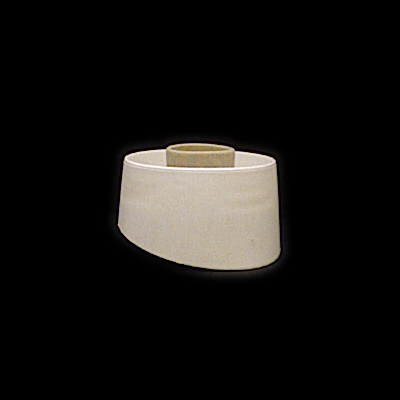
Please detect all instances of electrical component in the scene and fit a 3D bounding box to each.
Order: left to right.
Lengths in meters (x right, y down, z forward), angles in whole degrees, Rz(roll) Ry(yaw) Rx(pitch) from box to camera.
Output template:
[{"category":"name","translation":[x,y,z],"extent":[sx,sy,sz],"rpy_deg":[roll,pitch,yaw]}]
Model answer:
[{"category":"electrical component","translation":[0.000,0.000,0.644],"extent":[0.099,0.064,0.098],"rpy_deg":[2,11,0]}]
